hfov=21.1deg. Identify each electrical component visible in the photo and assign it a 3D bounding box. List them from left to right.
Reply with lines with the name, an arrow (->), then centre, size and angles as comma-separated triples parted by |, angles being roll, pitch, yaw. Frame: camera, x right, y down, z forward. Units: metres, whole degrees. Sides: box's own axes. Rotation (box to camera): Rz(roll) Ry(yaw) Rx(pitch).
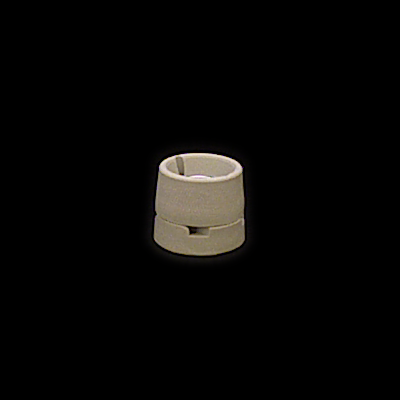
electrical component -> 0.000, 0.000, 0.640 | 0.055, 0.047, 0.055 | 1, 22, 0
